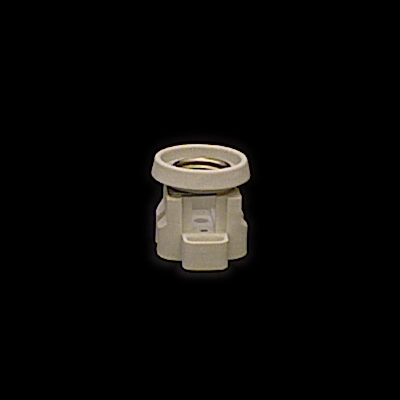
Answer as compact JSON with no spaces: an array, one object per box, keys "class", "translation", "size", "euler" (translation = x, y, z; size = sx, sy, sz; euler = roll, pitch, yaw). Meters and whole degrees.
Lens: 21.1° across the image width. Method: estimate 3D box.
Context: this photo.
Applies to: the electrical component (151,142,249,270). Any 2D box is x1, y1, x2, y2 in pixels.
[{"class":"electrical component","translation":[0.000,0.000,0.640],"size":[0.058,0.057,0.077],"euler":[-1,21,-5]}]
